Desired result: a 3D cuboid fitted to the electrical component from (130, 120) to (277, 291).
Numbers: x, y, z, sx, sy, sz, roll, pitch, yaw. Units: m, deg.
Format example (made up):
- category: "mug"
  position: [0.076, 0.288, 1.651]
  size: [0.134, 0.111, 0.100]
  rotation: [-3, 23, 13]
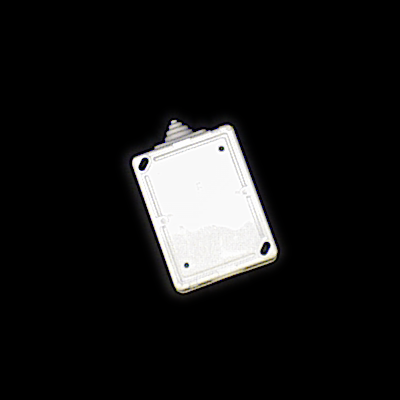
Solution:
- category: "electrical component"
  position: [0.000, 0.000, 0.627]
  size: [0.062, 0.096, 0.061]
  rotation: [-20, -6, -1]
